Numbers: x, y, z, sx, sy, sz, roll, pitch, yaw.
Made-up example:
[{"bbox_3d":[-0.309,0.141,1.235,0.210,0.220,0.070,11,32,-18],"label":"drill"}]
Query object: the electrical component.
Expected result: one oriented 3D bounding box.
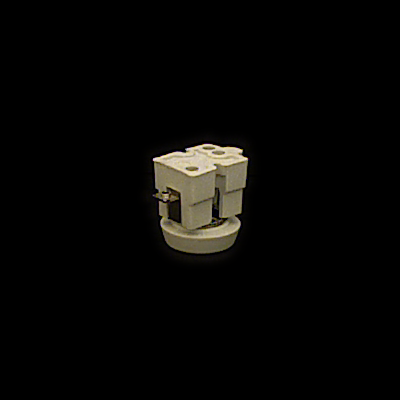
[{"bbox_3d":[0.000,0.000,0.648,0.067,0.056,0.047,-18,30,-37],"label":"electrical component"}]
